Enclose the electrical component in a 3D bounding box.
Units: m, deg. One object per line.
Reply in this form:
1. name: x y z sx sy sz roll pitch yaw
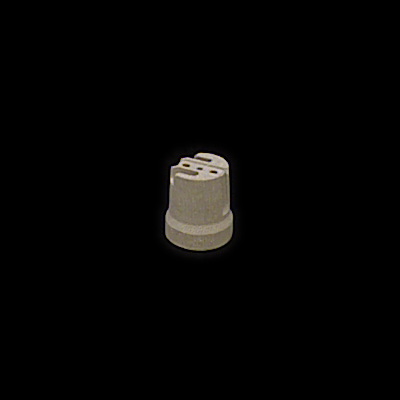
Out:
1. electrical component: 0.000 0.000 0.639 0.040 0.046 0.040 1 32 -1
